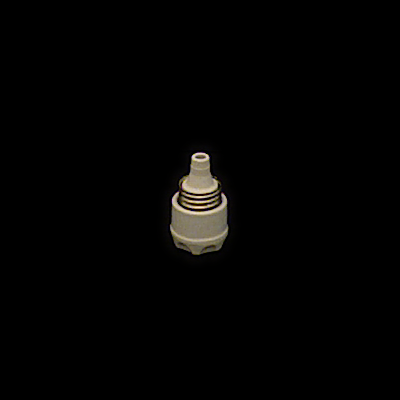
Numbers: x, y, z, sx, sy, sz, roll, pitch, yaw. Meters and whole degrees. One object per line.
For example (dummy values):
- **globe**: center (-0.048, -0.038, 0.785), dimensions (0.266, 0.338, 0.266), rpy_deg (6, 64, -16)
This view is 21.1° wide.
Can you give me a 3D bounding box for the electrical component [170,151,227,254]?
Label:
- **electrical component**: center (0.000, 0.000, 0.646), dimensions (0.035, 0.062, 0.034), rpy_deg (1, 31, 0)
